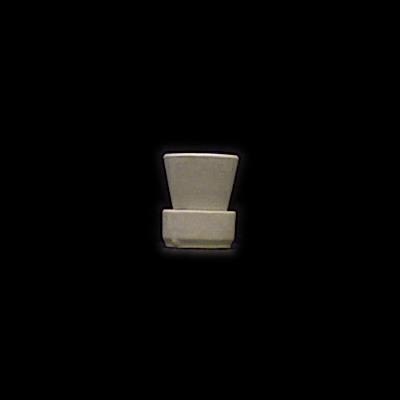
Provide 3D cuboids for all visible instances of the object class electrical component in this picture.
[{"bbox_3d":[0.000,0.000,0.650,0.045,0.055,0.044,2,2,0],"label":"electrical component"}]
